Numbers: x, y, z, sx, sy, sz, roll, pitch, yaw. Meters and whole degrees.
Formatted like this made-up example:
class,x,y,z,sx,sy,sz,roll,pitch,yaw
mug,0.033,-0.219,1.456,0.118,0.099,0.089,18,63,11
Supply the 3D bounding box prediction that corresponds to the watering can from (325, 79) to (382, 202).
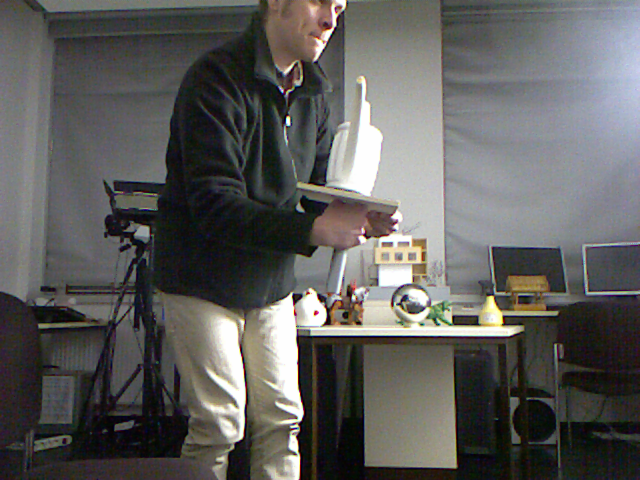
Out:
class,x,y,z,sx,sy,sz,roll,pitch,yaw
watering can,0.069,-0.187,1.054,0.104,0.225,0.348,11,0,7
